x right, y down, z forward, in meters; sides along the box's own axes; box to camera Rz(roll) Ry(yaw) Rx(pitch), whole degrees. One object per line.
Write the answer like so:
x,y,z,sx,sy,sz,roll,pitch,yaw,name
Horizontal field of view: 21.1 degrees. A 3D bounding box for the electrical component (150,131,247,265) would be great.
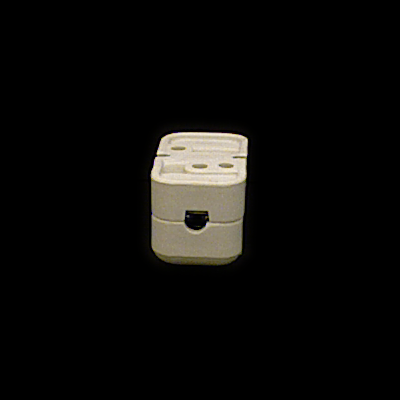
0.000,0.000,0.647,0.054,0.060,0.094,2,21,2,electrical component
